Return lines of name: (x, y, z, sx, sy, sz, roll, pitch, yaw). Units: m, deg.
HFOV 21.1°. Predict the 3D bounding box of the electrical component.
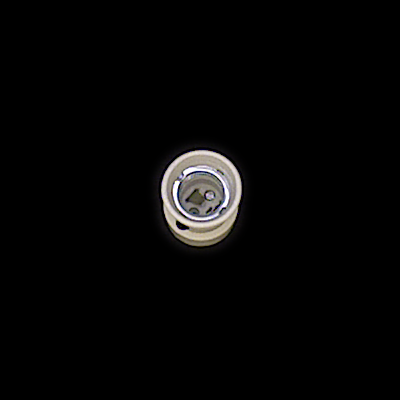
electrical component: (0.000, 0.000, 0.628, 0.045, 0.045, 0.055, 0, -16, 0)
